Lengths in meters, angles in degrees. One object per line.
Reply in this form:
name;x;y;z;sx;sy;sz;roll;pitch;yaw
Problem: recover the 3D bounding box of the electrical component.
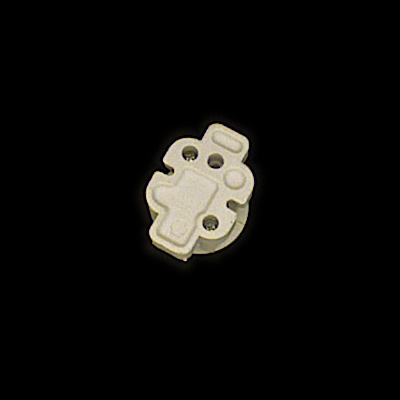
electrical component;0.000;0.000;0.635;0.058;0.079;0.056;27;-13;7
